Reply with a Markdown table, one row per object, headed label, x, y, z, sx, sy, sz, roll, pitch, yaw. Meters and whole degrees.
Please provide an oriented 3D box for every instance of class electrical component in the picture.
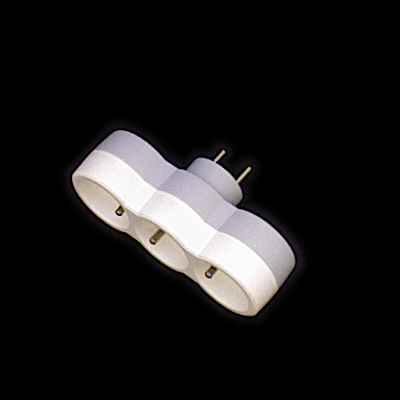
| label | x | y | z | sx | sy | sz | roll | pitch | yaw |
| --- | --- | --- | --- | --- | --- | --- | --- | --- | --- |
| electrical component | 0.000 | 0.000 | 0.631 | 0.138 | 0.074 | 0.052 | 34 | -24 | 16 |
